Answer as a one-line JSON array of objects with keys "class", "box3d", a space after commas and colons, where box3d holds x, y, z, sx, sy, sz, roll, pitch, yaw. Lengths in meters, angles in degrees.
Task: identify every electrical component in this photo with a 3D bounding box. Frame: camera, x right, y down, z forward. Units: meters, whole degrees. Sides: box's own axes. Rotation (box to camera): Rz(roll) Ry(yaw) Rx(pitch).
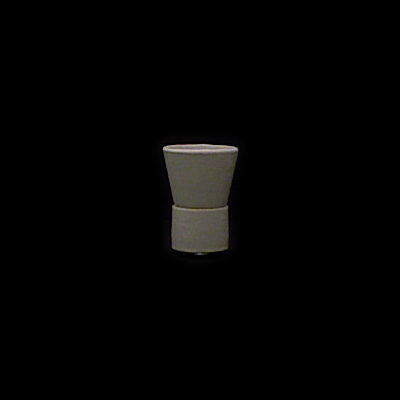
[{"class": "electrical component", "box3d": [0.000, 0.000, 0.645, 0.044, 0.066, 0.044, 0, 10, 0]}]
